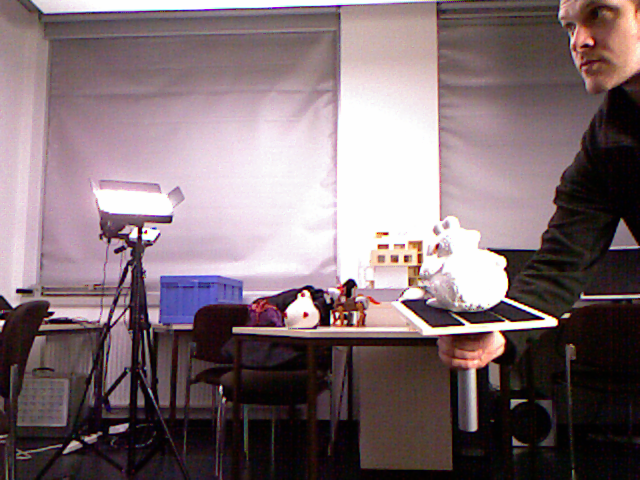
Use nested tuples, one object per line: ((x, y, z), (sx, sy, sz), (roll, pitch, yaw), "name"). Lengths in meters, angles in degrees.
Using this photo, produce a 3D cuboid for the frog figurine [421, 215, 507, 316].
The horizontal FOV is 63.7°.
((0.239, 0.040, 0.860), (0.137, 0.158, 0.124), (-2, 10, 14), "frog figurine")
